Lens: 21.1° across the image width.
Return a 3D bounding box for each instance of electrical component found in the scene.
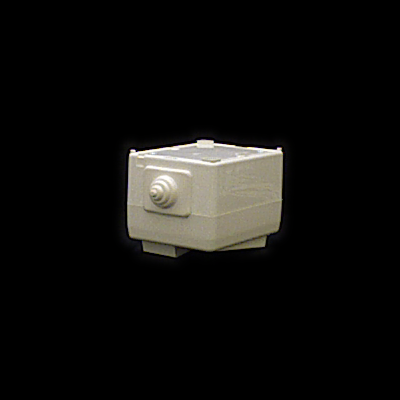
[{"bbox_3d":[0.000,0.000,0.637,0.061,0.061,0.096,9,12,32],"label":"electrical component"}]
